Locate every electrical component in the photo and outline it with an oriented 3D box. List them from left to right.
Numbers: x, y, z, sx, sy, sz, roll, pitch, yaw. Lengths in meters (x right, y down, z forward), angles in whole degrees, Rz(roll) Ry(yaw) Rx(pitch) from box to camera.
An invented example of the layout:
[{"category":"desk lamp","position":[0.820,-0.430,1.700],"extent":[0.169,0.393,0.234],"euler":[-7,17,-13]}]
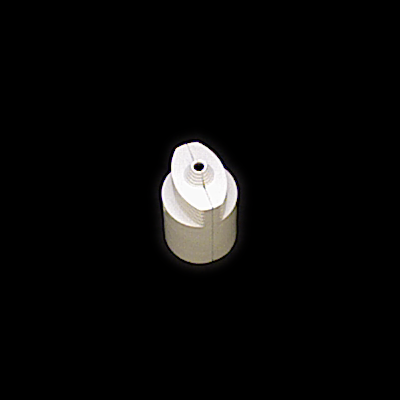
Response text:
[{"category":"electrical component","position":[0.000,0.000,0.617],"extent":[0.043,0.043,0.081],"euler":[0,-27,0]}]
